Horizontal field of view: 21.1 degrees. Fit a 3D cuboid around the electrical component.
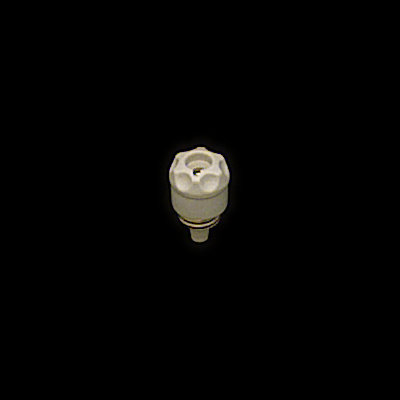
[{"bbox_3d":[0.000,0.000,0.636,0.035,0.062,0.035,0,43,0],"label":"electrical component"}]
